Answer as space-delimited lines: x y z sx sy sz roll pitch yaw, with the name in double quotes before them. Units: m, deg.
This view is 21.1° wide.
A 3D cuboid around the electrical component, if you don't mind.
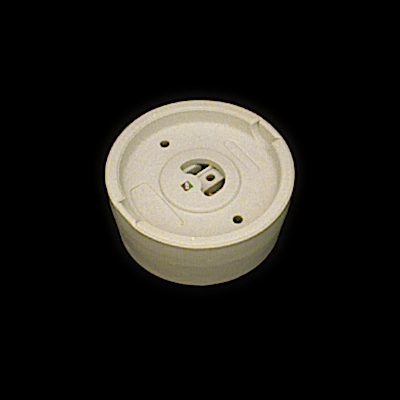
"electrical component" 0.000 0.000 0.633 0.108 0.107 0.060 0 -37 -1
